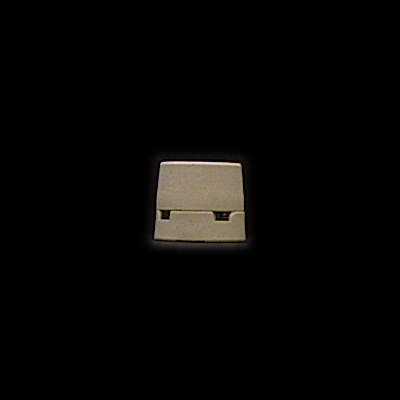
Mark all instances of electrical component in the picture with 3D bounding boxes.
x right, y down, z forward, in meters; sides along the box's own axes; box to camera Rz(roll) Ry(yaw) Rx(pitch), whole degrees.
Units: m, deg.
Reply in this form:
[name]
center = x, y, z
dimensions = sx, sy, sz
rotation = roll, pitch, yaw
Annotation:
[electrical component]
center = 0.000, 0.000, 0.649
dimensions = 0.055, 0.047, 0.055
rotation = 1, 2, 0
